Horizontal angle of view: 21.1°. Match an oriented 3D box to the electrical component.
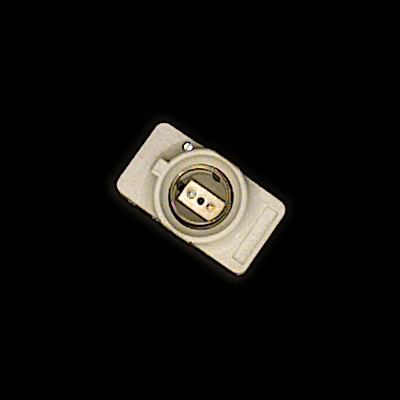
[{"bbox_3d":[0.000,0.000,0.637,0.089,0.050,0.055,35,-4,3],"label":"electrical component"}]
